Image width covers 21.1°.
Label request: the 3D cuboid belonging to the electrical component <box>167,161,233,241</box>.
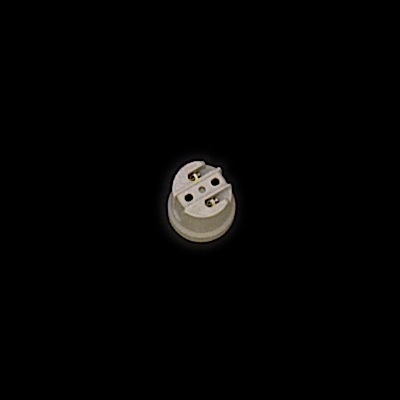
[{"bbox_3d":[0.000,0.000,0.633,0.040,0.040,0.046,0,-16,0],"label":"electrical component"}]
